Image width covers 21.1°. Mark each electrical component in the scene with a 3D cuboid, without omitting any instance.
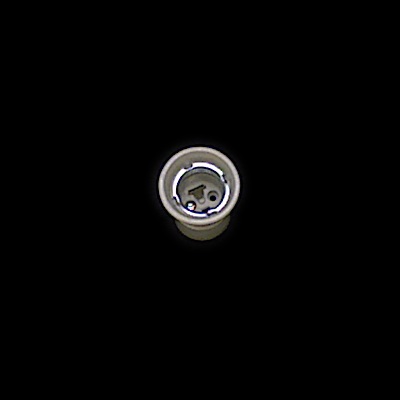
[{"bbox_3d":[0.000,0.000,0.623,0.044,0.044,0.065,0,-16,1],"label":"electrical component"}]
